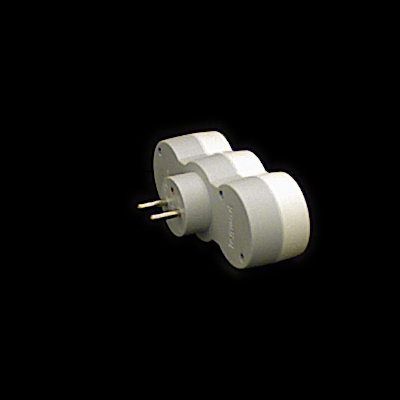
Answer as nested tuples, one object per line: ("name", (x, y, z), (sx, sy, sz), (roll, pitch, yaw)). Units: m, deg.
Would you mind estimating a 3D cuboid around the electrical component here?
("electrical component", (0.000, 0.000, 0.647), (0.074, 0.053, 0.135), (-11, 25, -24))
